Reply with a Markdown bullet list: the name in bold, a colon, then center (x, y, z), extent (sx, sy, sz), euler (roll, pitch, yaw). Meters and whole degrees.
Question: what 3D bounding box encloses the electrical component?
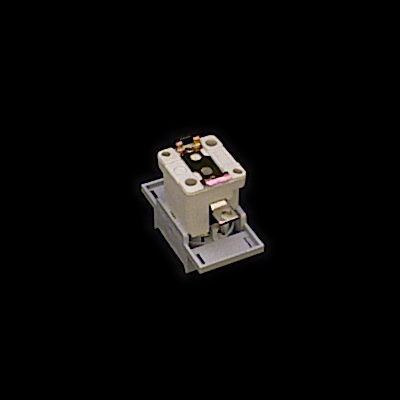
- **electrical component**: center (0.000, 0.000, 0.630), extent (0.042, 0.064, 0.080), euler (-19, 46, -20)
